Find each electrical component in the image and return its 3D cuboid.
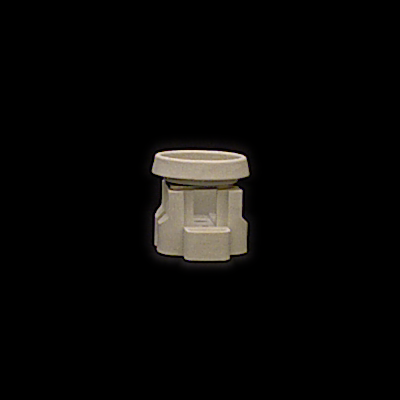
[{"bbox_3d":[0.000,0.000,0.645,0.058,0.057,0.078,0,11,-8],"label":"electrical component"}]
